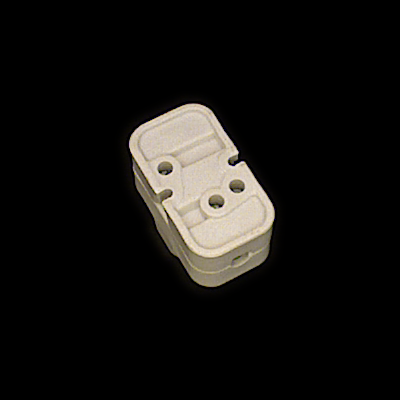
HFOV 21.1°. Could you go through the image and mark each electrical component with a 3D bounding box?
[{"bbox_3d":[0.000,0.000,0.636,0.054,0.095,0.059,-27,-24,-12],"label":"electrical component"}]
